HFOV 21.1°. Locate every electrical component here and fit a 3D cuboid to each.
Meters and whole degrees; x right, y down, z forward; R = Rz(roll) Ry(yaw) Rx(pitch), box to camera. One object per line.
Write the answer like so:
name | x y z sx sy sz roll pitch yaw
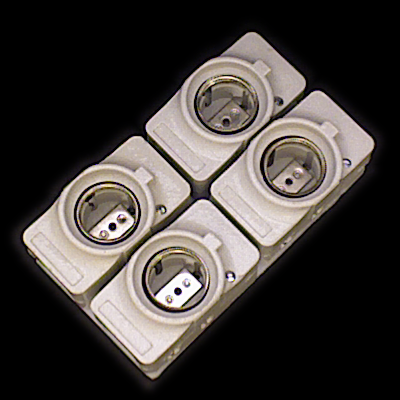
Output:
electrical component | 0.000 0.000 0.625 0.187 0.105 0.060 -43 -12 -12
